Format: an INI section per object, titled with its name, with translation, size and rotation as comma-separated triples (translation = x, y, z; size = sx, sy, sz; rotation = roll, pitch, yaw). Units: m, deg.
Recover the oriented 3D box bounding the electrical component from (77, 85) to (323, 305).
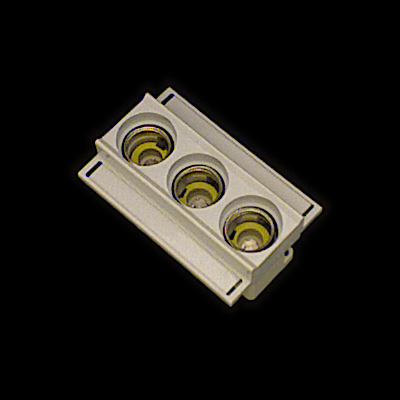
[electrical component]
translation = 0.000, 0.000, 0.637
size = 0.121, 0.079, 0.063
rotation = 40, -19, 18
